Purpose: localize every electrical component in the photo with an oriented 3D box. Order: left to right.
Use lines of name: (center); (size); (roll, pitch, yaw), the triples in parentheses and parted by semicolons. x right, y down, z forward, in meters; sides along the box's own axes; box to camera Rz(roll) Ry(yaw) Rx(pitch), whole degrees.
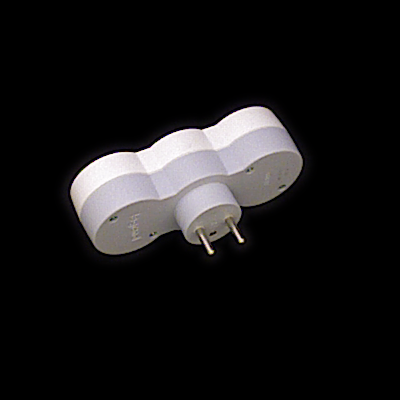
electrical component: (0.000, 0.000, 0.633); (0.138, 0.073, 0.052); (-20, -33, -16)
